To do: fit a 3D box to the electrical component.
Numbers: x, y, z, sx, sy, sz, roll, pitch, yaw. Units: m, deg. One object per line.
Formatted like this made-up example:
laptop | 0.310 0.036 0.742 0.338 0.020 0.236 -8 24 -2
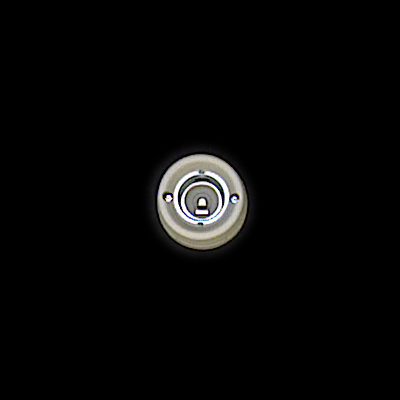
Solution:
electrical component | 0.000 0.000 0.634 0.055 0.055 0.047 0 -7 1
